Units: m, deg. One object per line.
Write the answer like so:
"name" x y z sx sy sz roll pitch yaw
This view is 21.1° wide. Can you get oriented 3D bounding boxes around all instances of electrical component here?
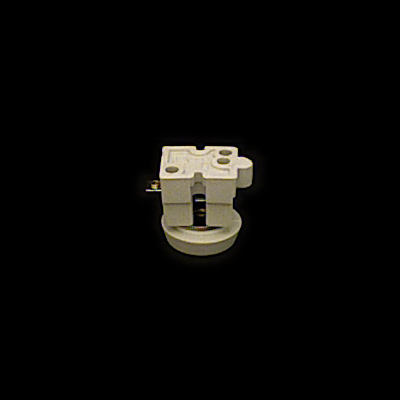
"electrical component" 0.000 0.000 0.644 0.066 0.056 0.048 1 34 2
